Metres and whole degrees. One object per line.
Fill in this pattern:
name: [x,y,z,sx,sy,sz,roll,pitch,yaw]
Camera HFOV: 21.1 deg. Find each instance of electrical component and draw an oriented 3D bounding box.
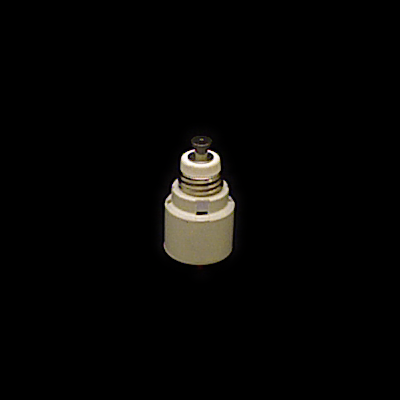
electrical component: [0.000,0.000,0.629,0.040,0.079,0.039,2,31,-1]
